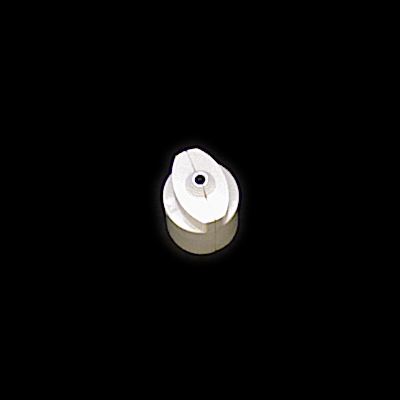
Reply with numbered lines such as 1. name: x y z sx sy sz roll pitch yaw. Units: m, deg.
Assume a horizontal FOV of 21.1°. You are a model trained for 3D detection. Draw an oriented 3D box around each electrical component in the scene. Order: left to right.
1. electrical component: 0.000 0.000 0.616 0.043 0.043 0.080 0 -17 0
